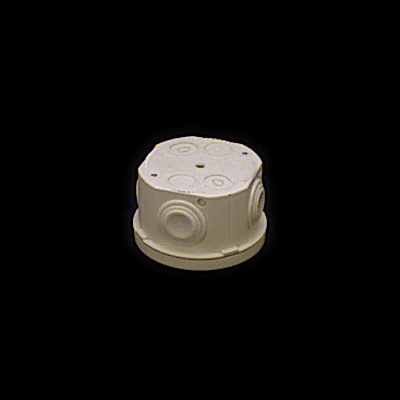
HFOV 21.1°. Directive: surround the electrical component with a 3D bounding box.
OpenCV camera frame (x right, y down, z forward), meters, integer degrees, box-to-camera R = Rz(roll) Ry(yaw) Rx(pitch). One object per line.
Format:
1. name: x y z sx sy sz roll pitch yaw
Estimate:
1. electrical component: 0.000 0.000 0.636 0.080 0.051 0.079 0 32 0
